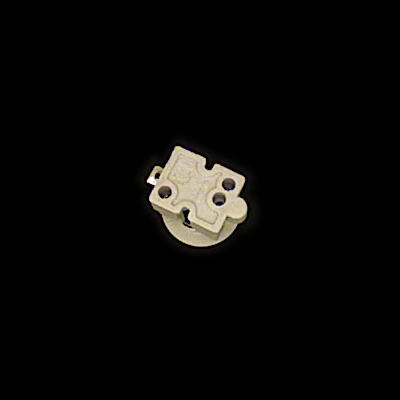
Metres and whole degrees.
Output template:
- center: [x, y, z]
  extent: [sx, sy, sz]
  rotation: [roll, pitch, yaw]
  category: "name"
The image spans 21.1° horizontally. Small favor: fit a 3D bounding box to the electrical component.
- center: [0.000, 0.000, 0.638]
  extent: [0.066, 0.048, 0.055]
  rotation: [26, -13, 8]
  category: "electrical component"
